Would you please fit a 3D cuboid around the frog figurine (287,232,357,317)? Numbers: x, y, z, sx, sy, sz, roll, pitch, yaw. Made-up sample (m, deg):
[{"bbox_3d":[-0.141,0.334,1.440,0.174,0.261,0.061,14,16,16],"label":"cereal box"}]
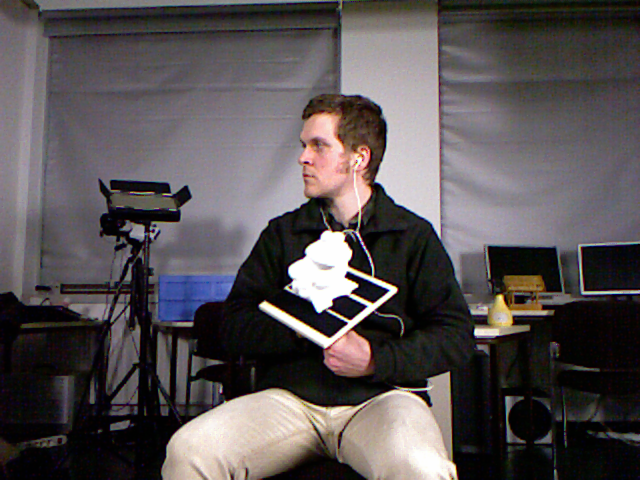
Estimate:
[{"bbox_3d":[0.000,0.048,1.009,0.138,0.156,0.125,-19,33,-11],"label":"frog figurine"}]
